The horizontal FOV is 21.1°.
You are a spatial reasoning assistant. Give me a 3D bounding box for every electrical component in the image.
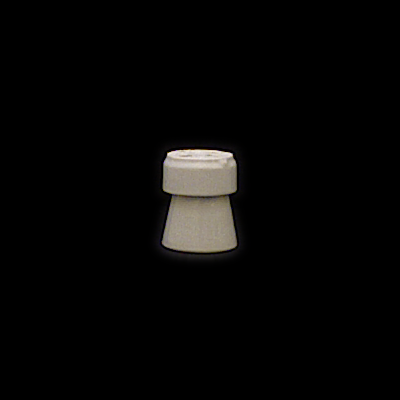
[{"bbox_3d":[0.000,0.000,0.644,0.045,0.055,0.044,1,11,0],"label":"electrical component"}]
